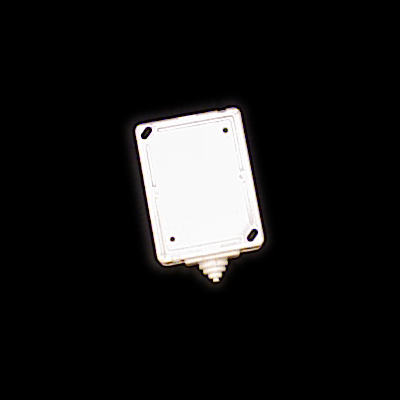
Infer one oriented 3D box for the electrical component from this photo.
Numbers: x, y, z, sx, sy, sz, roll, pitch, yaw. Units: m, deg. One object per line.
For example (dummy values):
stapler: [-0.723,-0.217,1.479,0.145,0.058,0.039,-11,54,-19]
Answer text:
electrical component: [0.000,0.000,0.629,0.062,0.096,0.061,-10,-6,-1]
